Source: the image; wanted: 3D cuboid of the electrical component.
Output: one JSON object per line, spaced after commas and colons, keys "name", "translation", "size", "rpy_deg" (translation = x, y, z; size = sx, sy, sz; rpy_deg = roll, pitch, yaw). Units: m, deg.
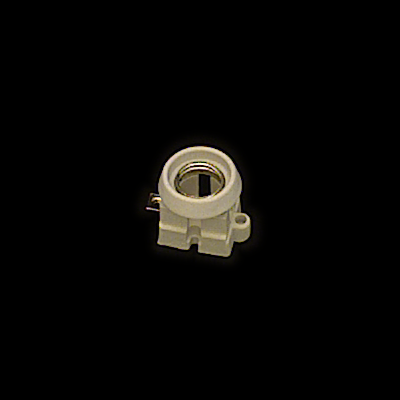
{"name": "electrical component", "translation": [0.000, 0.000, 0.637], "size": [0.066, 0.048, 0.055], "rpy_deg": [9, -38, 6]}
